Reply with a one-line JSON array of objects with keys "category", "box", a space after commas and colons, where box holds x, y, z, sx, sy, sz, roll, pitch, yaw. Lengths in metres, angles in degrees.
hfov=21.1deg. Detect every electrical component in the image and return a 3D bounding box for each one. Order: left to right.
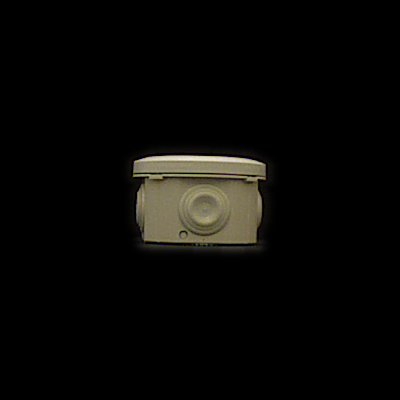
[{"category": "electrical component", "box": [0.000, 0.000, 0.647, 0.080, 0.051, 0.080, 1, 0, 0]}]
